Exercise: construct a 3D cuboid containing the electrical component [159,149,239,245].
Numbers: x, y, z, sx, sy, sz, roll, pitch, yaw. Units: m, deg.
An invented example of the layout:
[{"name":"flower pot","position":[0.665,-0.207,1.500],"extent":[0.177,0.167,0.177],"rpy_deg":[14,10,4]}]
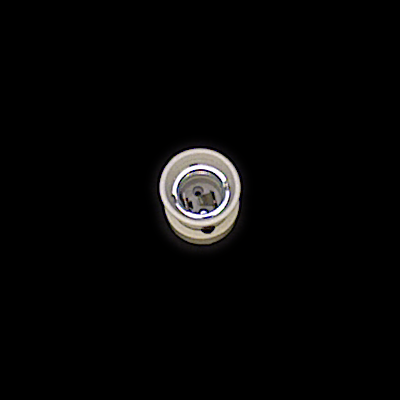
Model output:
[{"name":"electrical component","position":[0.000,0.000,0.627],"extent":[0.045,0.045,0.055],"rpy_deg":[0,-17,1]}]
